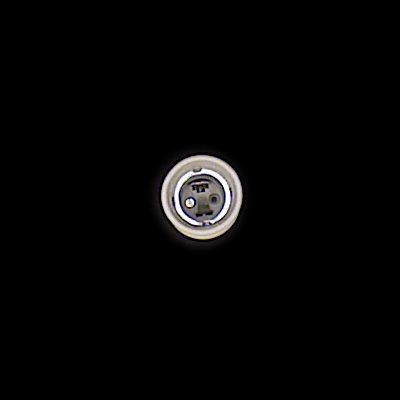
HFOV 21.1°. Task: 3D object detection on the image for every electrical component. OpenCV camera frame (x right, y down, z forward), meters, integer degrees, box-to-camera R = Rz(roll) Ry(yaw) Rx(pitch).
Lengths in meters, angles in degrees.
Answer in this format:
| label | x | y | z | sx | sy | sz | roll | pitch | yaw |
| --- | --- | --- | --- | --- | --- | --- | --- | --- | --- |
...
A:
| label | x | y | z | sx | sy | sz | roll | pitch | yaw |
| --- | --- | --- | --- | --- | --- | --- | --- | --- | --- |
| electrical component | 0.000 | 0.000 | 0.629 | 0.045 | 0.045 | 0.055 | 0 | -7 | 0 |
